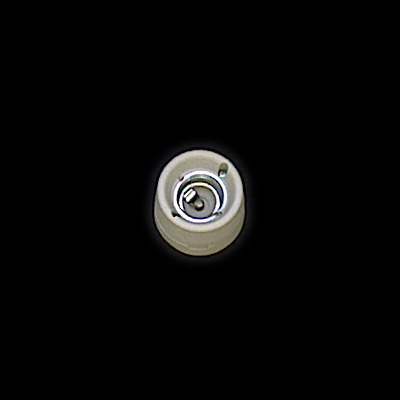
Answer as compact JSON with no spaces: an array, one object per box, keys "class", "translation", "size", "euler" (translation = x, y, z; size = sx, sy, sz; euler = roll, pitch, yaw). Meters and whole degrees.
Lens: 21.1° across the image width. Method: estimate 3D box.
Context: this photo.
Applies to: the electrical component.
[{"class":"electrical component","translation":[0.000,0.000,0.633],"size":[0.055,0.056,0.047],"euler":[0,-17,-1]}]
